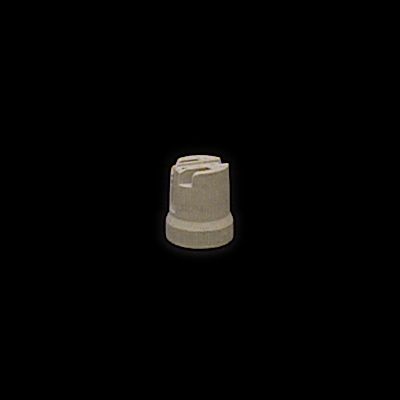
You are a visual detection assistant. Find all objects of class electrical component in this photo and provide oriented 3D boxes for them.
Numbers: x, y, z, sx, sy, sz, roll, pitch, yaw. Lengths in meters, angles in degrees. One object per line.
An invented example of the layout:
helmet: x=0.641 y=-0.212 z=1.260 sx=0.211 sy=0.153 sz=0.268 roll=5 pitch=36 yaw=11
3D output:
electrical component: x=0.000 y=0.000 z=0.642 sx=0.040 sy=0.046 sz=0.040 roll=1 pitch=21 yaw=0
